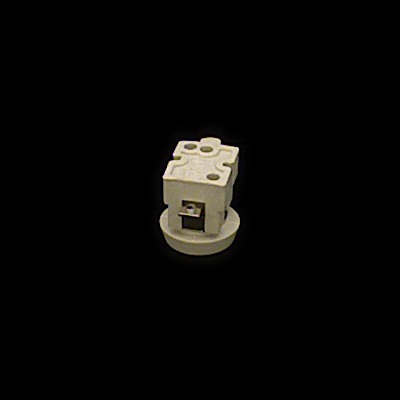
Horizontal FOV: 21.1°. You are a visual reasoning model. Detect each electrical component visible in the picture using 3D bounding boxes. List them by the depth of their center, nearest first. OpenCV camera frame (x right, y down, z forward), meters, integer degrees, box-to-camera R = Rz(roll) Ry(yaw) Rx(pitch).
[{"bbox_3d":[0.000,0.000,0.644,0.048,0.056,0.066,8,34,9],"label":"electrical component"}]
